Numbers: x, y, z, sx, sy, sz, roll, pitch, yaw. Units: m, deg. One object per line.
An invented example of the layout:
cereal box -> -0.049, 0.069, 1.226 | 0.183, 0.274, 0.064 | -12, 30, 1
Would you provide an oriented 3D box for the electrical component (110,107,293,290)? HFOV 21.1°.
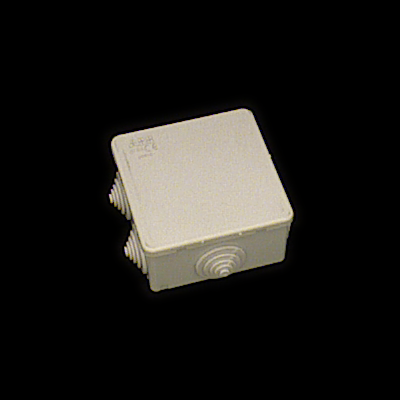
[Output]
electrical component -> 0.000, 0.000, 0.640 | 0.100, 0.099, 0.048 | -13, -36, -10
